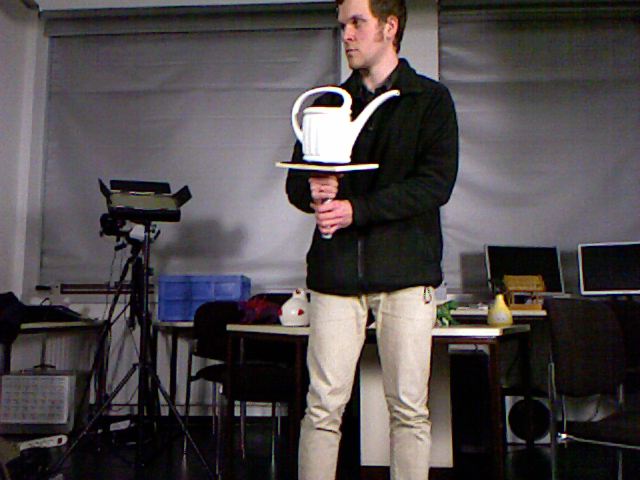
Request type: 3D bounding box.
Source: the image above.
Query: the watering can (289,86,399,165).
[{"bbox_3d":[0.052,-0.297,1.369,0.348,0.222,0.105,10,18,37],"label":"watering can"}]
